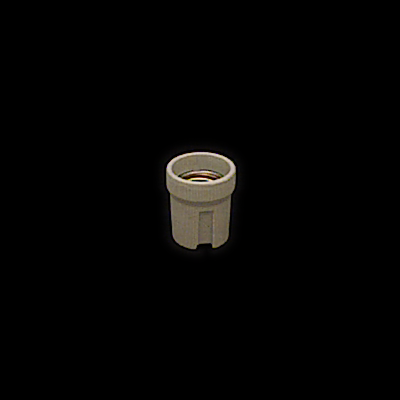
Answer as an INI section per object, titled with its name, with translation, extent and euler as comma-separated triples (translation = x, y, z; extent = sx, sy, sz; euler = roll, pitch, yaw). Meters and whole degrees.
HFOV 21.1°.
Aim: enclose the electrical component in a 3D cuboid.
[electrical component]
translation = 0.000, 0.000, 0.638
extent = 0.040, 0.047, 0.039
euler = 1, 31, 0
